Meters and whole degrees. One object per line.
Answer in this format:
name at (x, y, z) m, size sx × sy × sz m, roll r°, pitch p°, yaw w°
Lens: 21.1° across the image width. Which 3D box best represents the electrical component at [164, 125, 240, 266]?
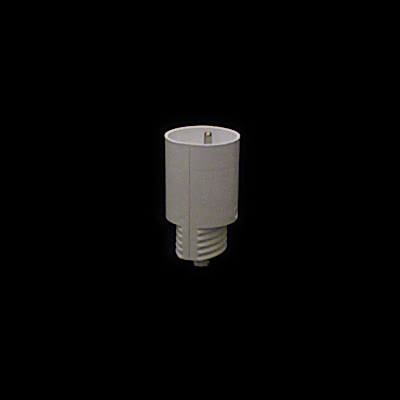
electrical component at (0.000, 0.000, 0.637) m, size 0.043 × 0.082 × 0.042 m, roll 2°, pitch 21°, yaw 0°
